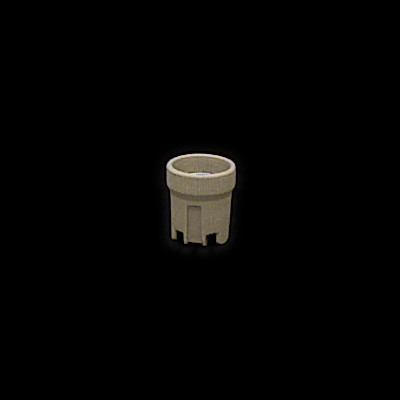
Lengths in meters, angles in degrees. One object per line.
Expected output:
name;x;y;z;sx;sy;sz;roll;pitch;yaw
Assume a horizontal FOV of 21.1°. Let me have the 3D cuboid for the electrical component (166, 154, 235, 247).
electrical component;0.000;0.000;0.638;0.040;0.047;0.039;1;21;0
